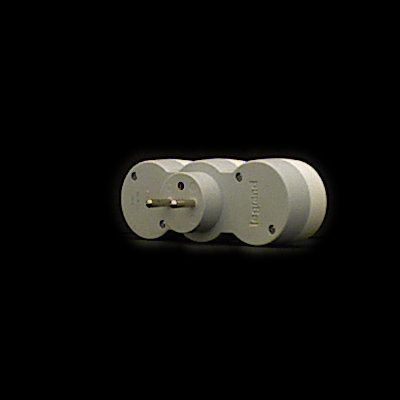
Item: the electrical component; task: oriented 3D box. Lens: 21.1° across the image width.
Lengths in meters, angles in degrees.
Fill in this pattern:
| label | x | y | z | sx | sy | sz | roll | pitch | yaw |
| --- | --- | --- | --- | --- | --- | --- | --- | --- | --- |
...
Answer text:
| label | x | y | z | sx | sy | sz | roll | pitch | yaw |
| --- | --- | --- | --- | --- | --- | --- | --- | --- | --- |
| electrical component | 0.000 | 0.000 | 0.655 | 0.136 | 0.052 | 0.074 | 2 | 3 | 40 |
